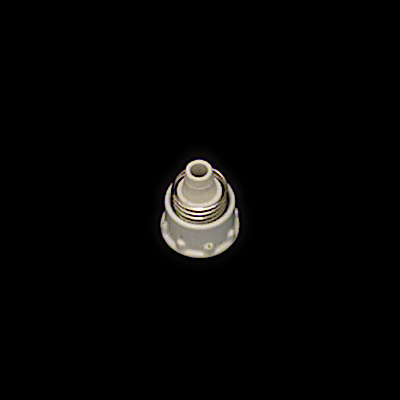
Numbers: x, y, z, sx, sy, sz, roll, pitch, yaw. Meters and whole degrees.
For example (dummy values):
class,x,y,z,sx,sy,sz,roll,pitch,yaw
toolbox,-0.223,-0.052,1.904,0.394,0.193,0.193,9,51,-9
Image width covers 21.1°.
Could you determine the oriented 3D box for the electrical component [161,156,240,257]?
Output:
class,x,y,z,sx,sy,sz,roll,pitch,yaw
electrical component,0.000,0.000,0.634,0.048,0.048,0.062,0,-36,1
